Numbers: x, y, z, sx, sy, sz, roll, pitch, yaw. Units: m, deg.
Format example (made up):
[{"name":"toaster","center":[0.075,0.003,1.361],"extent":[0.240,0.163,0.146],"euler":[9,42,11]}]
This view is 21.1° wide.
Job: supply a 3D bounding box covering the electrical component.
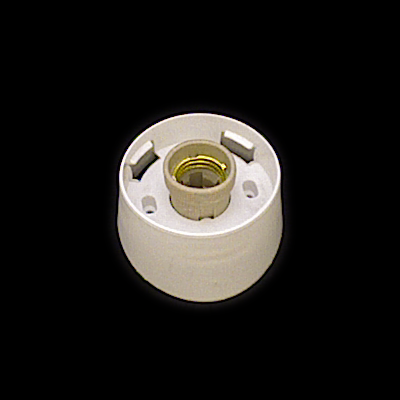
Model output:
[{"name":"electrical component","center":[0.000,0.000,0.627],"extent":[0.099,0.098,0.064],"euler":[0,-37,-1]}]
